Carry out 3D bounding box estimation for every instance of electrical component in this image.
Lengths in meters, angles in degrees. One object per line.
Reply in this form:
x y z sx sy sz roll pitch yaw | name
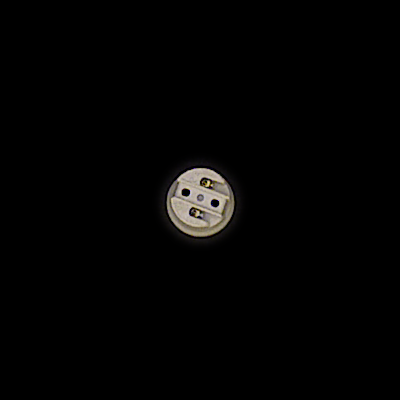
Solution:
0.000 0.000 0.634 0.040 0.040 0.046 0 -6 1 | electrical component
